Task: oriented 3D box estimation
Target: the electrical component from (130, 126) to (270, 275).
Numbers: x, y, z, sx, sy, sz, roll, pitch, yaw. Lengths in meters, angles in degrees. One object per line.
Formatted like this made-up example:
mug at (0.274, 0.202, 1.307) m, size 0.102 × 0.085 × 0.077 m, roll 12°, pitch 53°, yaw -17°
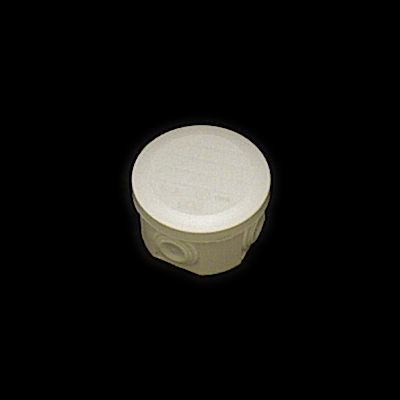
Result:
electrical component at (0.000, 0.000, 0.631) m, size 0.080 × 0.080 × 0.051 m, roll 0°, pitch -38°, yaw 0°
